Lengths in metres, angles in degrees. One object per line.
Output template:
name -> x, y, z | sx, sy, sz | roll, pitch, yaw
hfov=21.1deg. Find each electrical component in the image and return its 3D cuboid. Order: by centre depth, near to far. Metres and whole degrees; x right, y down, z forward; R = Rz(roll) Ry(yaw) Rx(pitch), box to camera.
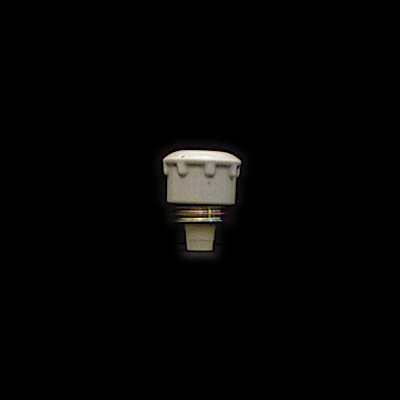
electrical component -> 0.000, 0.000, 0.659 | 0.048, 0.062, 0.048 | 1, 2, 1
